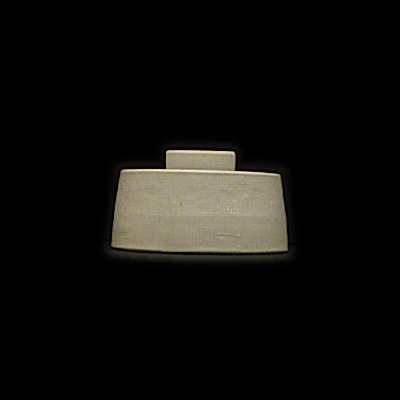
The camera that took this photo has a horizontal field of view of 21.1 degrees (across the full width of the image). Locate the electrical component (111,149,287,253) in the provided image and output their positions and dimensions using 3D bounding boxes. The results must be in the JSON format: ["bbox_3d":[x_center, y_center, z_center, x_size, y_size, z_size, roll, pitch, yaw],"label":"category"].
[{"bbox_3d":[0.000,0.000,0.658,0.108,0.060,0.108,1,1,1],"label":"electrical component"}]
